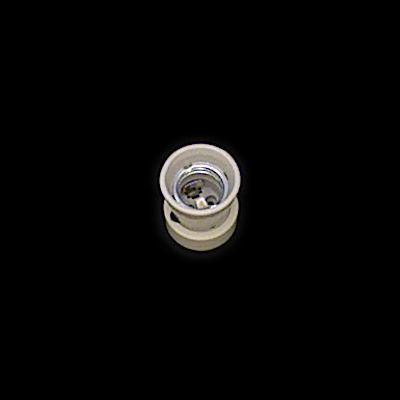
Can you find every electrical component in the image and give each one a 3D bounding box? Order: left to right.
[{"bbox_3d":[0.000,0.000,0.628,0.045,0.045,0.055,0,-28,0],"label":"electrical component"}]
